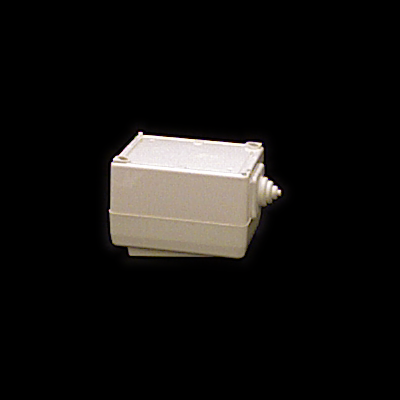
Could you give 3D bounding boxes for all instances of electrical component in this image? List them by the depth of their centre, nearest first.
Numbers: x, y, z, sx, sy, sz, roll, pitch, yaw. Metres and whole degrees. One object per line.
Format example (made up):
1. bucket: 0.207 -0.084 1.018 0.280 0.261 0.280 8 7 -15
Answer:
1. electrical component: 0.000 0.000 0.637 0.096 0.061 0.061 6 21 10
